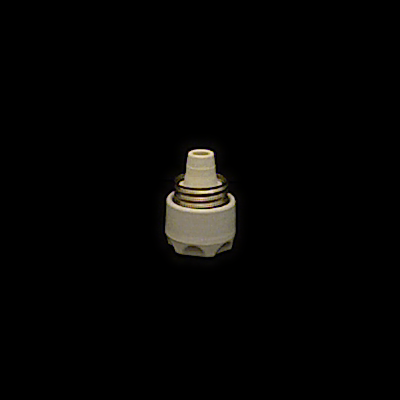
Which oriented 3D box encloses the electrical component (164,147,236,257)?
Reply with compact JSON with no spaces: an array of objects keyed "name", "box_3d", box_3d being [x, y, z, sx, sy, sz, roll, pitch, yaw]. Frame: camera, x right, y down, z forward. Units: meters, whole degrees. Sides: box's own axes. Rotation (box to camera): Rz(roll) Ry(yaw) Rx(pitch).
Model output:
[{"name":"electrical component","box_3d":[0.000,0.000,0.647,0.043,0.063,0.043,1,21,0]}]
